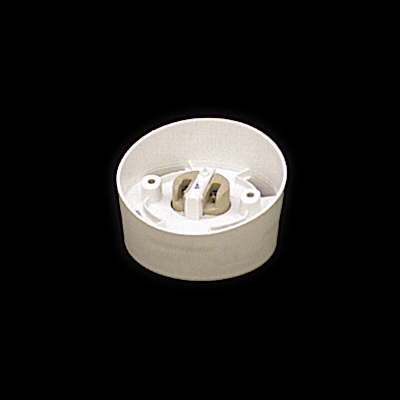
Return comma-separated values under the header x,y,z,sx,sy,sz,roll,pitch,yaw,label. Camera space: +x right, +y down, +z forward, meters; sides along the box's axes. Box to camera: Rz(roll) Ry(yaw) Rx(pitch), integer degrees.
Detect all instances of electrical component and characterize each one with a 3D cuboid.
x,y,z,sx,sy,sz,roll,pitch,yaw,label
0.000,0.000,0.634,0.099,0.065,0.097,1,30,0,electrical component
